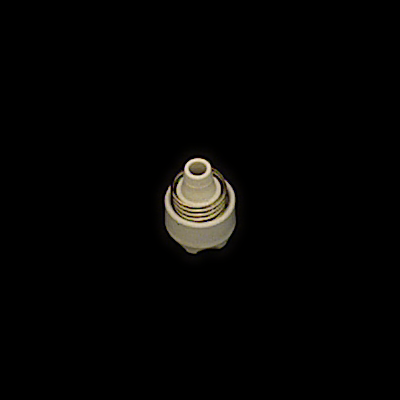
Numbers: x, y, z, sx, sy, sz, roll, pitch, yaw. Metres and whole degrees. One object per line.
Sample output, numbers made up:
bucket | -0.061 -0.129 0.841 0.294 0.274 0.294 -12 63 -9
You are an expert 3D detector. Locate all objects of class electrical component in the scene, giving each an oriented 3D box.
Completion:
electrical component | 0.000 0.000 0.635 0.043 0.043 0.062 0 -37 1
